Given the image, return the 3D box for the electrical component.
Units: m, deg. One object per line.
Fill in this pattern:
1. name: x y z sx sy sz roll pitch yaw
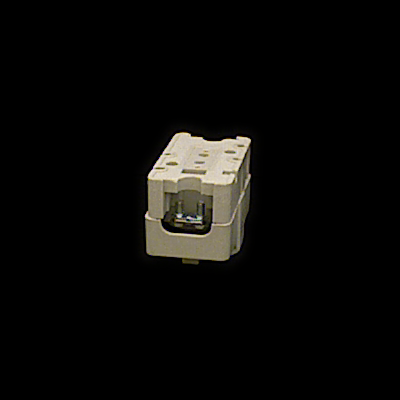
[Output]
1. electrical component: 0.000 0.000 0.647 0.050 0.056 0.089 5 23 9
